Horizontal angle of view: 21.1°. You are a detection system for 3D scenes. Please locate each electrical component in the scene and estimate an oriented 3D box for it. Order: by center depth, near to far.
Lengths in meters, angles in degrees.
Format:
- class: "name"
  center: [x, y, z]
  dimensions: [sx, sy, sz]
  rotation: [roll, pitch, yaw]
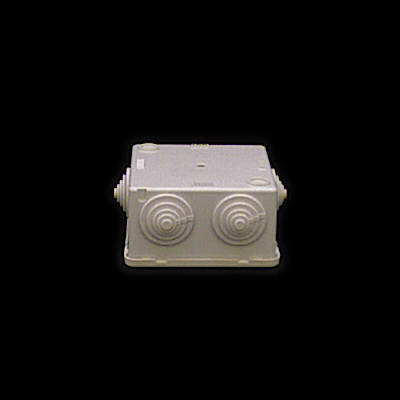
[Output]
- class: "electrical component"
  center: [0.000, 0.000, 0.640]
  dimensions: [0.100, 0.049, 0.098]
  rotation: [0, 21, -2]
